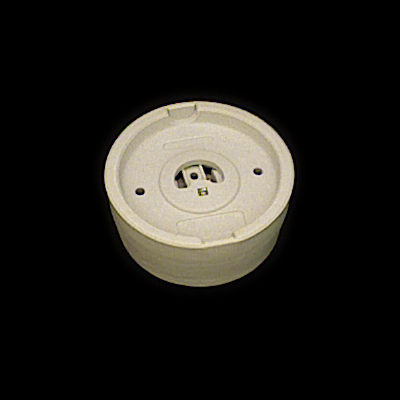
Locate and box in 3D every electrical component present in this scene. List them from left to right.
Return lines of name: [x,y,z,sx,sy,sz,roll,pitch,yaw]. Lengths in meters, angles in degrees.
electrical component: [0.000,0.000,0.634,0.108,0.107,0.060,0,-37,0]
